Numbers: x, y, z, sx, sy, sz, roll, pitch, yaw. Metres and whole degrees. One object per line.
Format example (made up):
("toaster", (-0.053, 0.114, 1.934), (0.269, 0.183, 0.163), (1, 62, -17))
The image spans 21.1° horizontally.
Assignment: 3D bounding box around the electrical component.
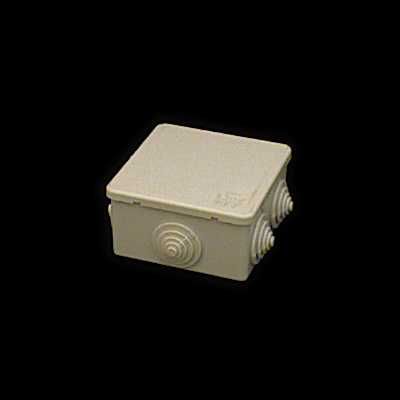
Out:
("electrical component", (0.000, 0.000, 0.644), (0.099, 0.049, 0.099), (11, 34, 16))
